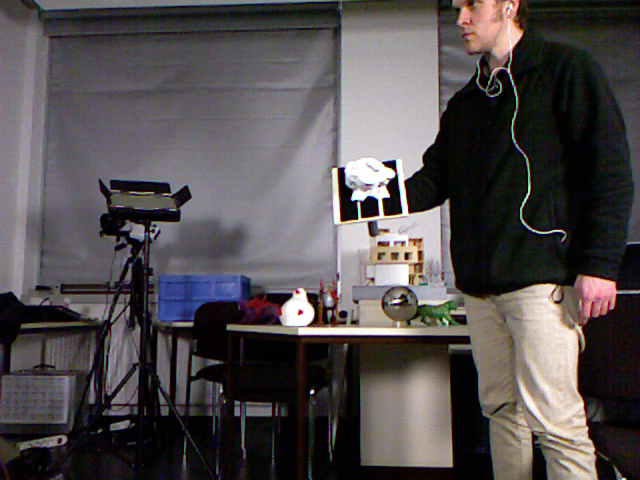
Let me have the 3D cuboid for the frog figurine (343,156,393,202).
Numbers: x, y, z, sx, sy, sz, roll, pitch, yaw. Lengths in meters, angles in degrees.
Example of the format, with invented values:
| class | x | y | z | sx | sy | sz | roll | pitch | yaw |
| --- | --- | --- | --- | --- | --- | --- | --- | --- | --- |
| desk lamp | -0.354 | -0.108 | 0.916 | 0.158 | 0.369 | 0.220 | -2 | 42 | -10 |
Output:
| class | x | y | z | sx | sy | sz | roll | pitch | yaw |
| --- | --- | --- | --- | --- | --- | --- | --- | --- | --- |
| frog figurine | 0.129 | -0.186 | 1.403 | 0.138 | 0.125 | 0.156 | 12 | -32 | 16 |
